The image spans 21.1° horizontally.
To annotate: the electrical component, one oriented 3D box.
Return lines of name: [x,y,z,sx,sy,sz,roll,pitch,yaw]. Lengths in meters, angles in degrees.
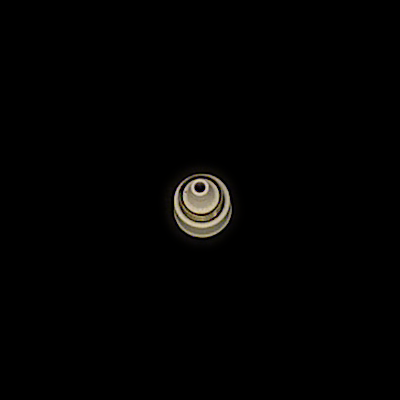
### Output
electrical component: [0.000,0.000,0.637,0.035,0.035,0.061,0,-15,2]
